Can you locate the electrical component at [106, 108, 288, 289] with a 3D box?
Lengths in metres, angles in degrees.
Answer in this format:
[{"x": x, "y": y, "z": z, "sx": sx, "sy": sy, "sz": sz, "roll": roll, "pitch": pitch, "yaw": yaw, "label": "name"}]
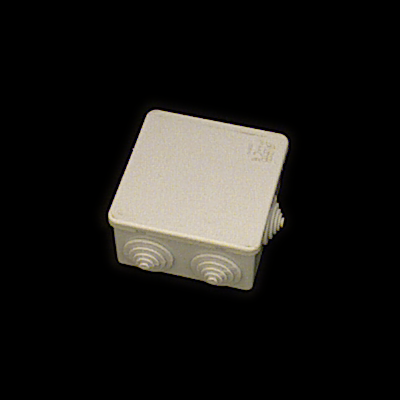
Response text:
[{"x": 0.000, "y": 0.000, "z": 0.641, "sx": 0.099, "sy": 0.099, "sz": 0.049, "roll": 12, "pitch": -36, "yaw": 8, "label": "electrical component"}]
